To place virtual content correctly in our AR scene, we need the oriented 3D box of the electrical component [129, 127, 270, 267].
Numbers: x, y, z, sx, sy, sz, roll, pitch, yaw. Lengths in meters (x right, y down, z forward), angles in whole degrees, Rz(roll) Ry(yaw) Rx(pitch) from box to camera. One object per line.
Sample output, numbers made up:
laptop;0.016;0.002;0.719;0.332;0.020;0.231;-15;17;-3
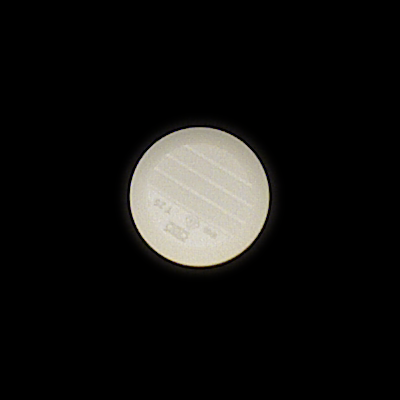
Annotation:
electrical component;0.000;0.000;0.631;0.080;0.080;0.050;0;-7;0
